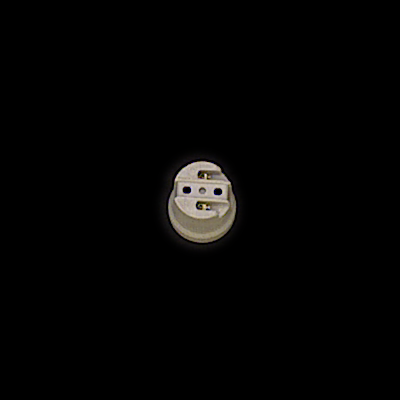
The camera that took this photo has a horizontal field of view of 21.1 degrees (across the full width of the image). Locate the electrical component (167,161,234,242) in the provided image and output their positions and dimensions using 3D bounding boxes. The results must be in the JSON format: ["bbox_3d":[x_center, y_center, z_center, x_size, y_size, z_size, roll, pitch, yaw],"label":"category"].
[{"bbox_3d":[0.000,0.000,0.633,0.040,0.040,0.046,0,-16,1],"label":"electrical component"}]
